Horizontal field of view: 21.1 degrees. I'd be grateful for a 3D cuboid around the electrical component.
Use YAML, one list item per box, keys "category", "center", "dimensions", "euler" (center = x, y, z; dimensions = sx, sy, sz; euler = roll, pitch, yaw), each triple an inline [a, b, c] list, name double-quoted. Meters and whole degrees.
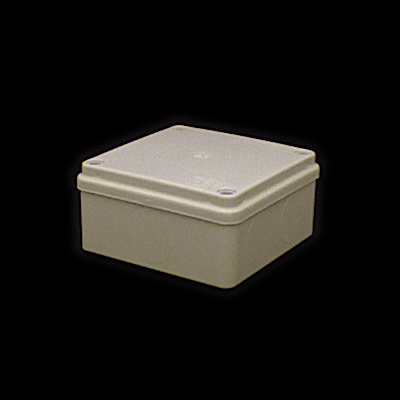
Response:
- category: "electrical component"
  center: [0.000, 0.000, 0.641]
  dimensions: [0.108, 0.057, 0.108]
  euler: [13, 23, 29]
